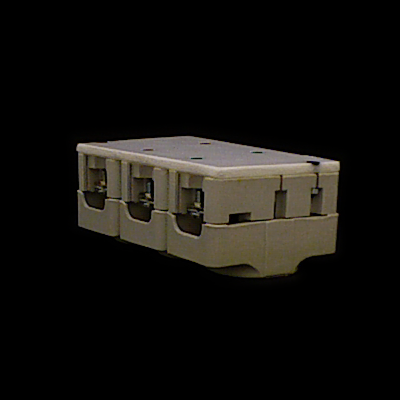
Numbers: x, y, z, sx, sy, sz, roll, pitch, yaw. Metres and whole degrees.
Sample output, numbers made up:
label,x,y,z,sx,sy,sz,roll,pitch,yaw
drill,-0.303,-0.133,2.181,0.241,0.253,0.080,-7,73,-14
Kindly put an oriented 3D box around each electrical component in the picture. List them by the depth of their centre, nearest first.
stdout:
label,x,y,z,sx,sy,sz,roll,pitch,yaw
electrical component,0.000,0.000,0.650,0.089,0.062,0.149,-7,13,-35
